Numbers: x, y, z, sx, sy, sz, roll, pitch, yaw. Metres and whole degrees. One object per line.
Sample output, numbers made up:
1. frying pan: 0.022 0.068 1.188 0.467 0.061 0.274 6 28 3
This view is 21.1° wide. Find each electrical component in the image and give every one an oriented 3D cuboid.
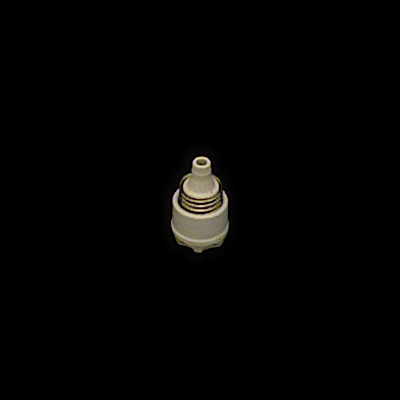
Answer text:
1. electrical component: 0.000 0.000 0.643 0.035 0.062 0.035 1 43 -1
